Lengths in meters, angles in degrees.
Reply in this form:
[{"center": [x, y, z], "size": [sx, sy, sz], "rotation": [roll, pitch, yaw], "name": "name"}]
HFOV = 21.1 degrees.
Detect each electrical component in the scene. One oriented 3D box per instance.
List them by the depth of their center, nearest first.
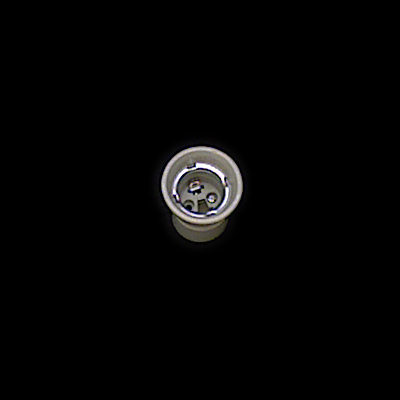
[{"center": [0.000, 0.000, 0.624], "size": [0.044, 0.044, 0.065], "rotation": [0, -17, -1], "name": "electrical component"}]
